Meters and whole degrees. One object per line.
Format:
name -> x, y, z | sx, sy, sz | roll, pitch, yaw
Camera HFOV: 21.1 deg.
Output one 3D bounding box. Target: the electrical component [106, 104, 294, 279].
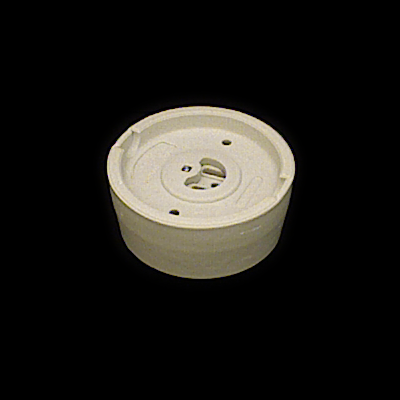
electrical component -> 0.000, 0.000, 0.637 | 0.108, 0.061, 0.107 | 1, 43, 0
